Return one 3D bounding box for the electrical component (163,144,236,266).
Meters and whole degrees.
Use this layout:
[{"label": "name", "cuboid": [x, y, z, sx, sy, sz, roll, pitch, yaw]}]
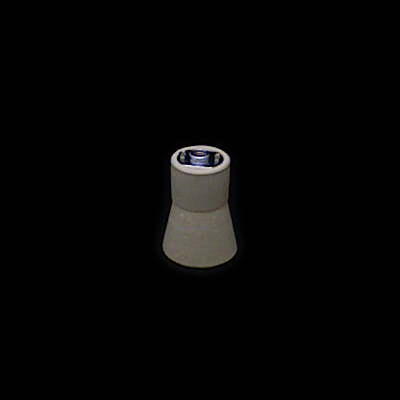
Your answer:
[{"label": "electrical component", "cuboid": [0.000, 0.000, 0.634, 0.044, 0.066, 0.044, 1, 30, 0]}]
